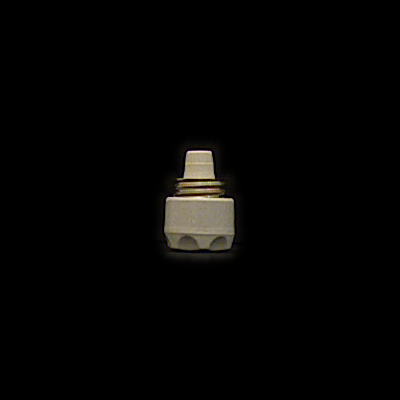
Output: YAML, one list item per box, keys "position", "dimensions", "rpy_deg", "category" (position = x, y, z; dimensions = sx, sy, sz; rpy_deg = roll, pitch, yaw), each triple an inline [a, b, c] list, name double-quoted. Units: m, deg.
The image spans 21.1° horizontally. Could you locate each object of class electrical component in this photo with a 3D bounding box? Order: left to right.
- position: [0.000, 0.000, 0.656]
  dimensions: [0.043, 0.062, 0.043]
  rpy_deg: [0, 1, 1]
  category: "electrical component"
